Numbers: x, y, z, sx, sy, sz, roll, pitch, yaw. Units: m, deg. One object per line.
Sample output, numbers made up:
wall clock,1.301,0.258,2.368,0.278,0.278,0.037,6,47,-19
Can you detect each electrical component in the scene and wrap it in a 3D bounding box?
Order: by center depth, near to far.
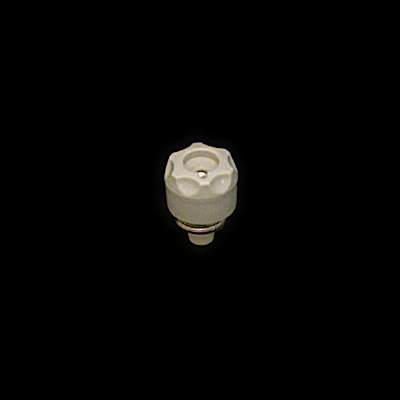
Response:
electrical component,0.000,0.000,0.638,0.043,0.062,0.043,0,42,0
